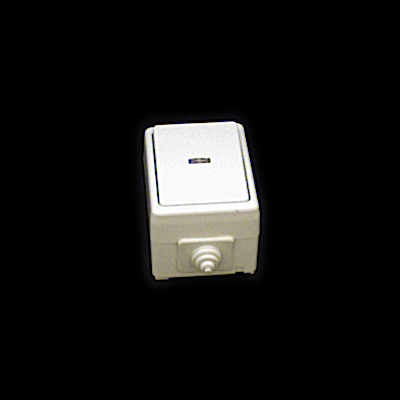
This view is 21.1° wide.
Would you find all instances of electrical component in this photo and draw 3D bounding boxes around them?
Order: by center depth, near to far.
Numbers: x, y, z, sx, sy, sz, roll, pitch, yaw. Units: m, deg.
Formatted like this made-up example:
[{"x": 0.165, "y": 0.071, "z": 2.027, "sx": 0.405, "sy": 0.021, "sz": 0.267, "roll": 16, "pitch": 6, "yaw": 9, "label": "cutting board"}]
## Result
[{"x": 0.000, "y": 0.000, "z": 0.628, "sx": 0.062, "sy": 0.061, "sz": 0.095, "roll": -3, "pitch": 42, "yaw": -4, "label": "electrical component"}]
